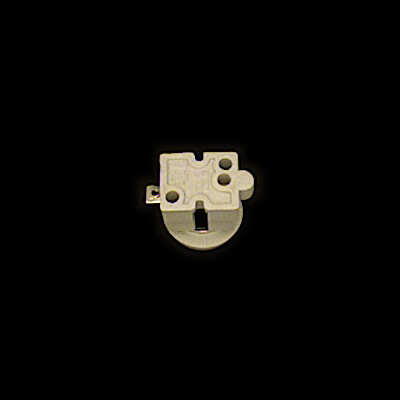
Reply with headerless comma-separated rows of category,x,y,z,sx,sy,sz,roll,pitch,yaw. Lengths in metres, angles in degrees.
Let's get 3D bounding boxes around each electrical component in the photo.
electrical component,0.000,0.000,0.638,0.066,0.048,0.055,-1,-26,1
